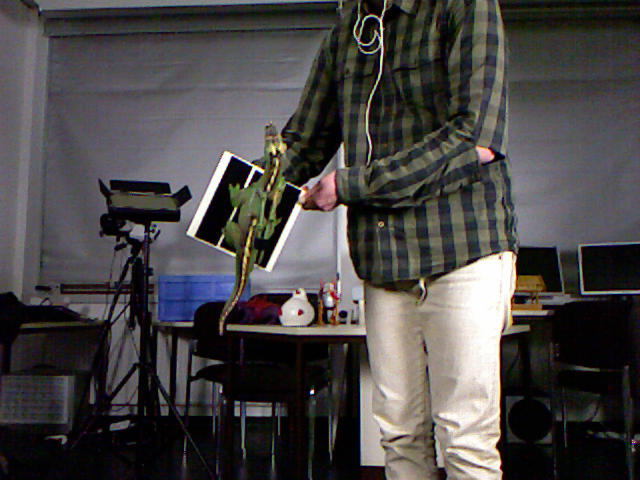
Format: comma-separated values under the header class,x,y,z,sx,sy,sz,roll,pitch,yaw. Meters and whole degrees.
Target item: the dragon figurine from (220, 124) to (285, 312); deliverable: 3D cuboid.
class,x,y,z,sx,sy,sz,roll,pitch,yaw
dragon figurine,-0.134,-0.025,1.037,0.122,0.410,0.244,9,4,-12
